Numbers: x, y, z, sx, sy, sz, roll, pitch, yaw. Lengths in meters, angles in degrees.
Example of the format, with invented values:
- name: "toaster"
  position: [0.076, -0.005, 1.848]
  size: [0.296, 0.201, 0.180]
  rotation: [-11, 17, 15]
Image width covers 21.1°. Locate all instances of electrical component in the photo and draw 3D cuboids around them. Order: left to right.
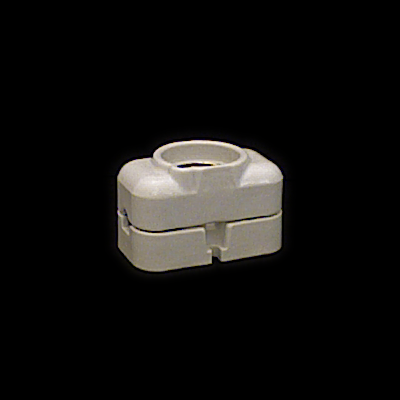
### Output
- name: "electrical component"
  position: [0.000, 0.000, 0.644]
  size: [0.095, 0.060, 0.053]
  rotation: [-8, 23, -22]
